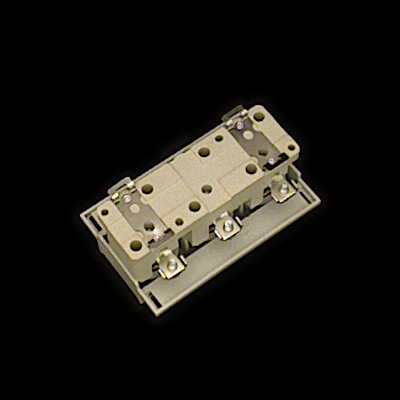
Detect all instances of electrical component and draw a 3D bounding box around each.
[{"bbox_3d":[0.000,0.000,0.634,0.122,0.078,0.063,-34,-23,-16],"label":"electrical component"}]
